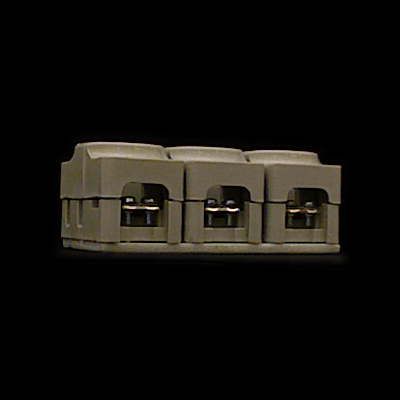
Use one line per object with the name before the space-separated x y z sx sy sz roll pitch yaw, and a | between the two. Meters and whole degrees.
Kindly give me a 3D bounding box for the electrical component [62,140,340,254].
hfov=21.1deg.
electrical component | 0.000 0.000 0.658 0.150 0.062 0.089 2 -1 -23
